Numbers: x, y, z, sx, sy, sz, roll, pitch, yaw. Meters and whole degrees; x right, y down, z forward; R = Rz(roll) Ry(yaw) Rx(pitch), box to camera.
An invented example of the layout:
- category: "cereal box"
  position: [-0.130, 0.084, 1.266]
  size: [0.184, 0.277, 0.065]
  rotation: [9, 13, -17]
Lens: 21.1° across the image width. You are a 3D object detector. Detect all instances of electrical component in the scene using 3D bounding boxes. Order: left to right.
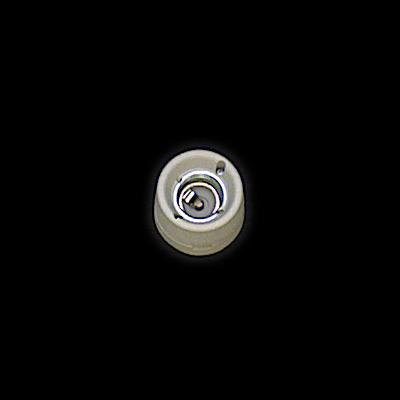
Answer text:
- category: "electrical component"
  position: [0.000, 0.000, 0.633]
  size: [0.055, 0.056, 0.047]
  rotation: [0, -17, -1]
